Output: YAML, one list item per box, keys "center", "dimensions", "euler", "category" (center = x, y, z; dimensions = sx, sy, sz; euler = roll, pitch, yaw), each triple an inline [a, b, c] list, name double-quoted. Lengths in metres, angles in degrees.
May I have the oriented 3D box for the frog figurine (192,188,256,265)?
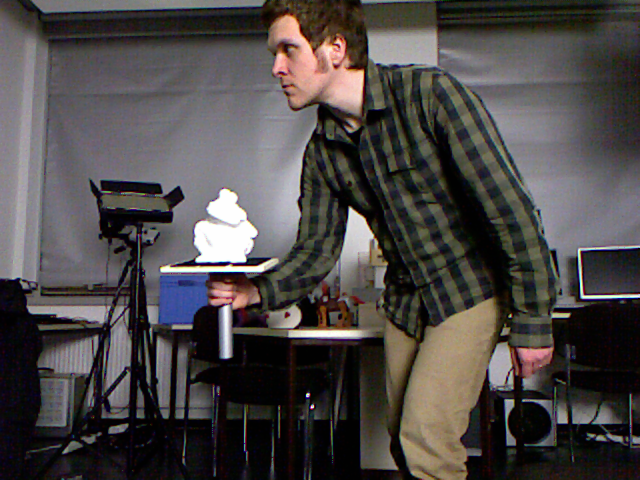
- center: [-0.208, -0.031, 1.103]
  dimensions: [0.138, 0.159, 0.123]
  euler: [3, 6, 21]
  category: "frog figurine"
